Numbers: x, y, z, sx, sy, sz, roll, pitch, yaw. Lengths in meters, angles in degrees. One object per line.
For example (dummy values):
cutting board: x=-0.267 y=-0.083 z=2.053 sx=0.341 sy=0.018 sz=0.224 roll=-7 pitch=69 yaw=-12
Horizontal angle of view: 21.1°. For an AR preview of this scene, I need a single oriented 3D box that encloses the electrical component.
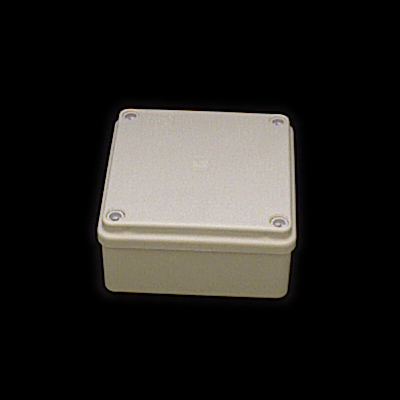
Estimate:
electrical component: x=0.000 y=0.000 z=0.631 sx=0.109 sy=0.056 sz=0.108 roll=2 pitch=43 yaw=1
